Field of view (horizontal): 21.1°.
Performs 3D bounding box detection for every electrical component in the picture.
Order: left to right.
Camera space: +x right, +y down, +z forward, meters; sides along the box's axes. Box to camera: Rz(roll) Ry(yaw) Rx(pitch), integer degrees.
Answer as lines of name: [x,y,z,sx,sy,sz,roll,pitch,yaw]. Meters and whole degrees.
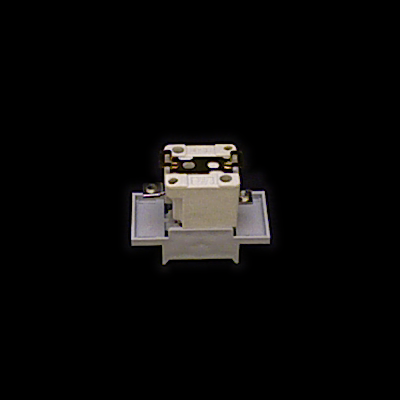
electrical component: [0.000,0.000,0.630,0.081,0.064,0.042,-2,42,-2]
